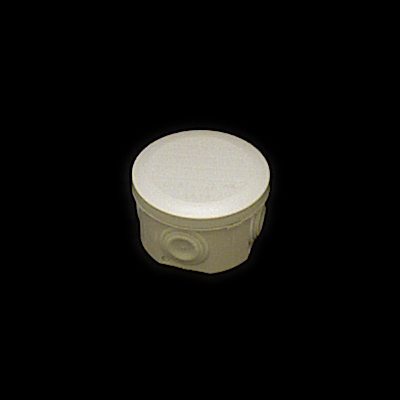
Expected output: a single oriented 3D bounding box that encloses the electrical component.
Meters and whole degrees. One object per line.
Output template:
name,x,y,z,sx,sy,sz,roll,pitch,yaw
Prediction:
electrical component,0.000,0.000,0.633,0.080,0.051,0.079,1,42,0
